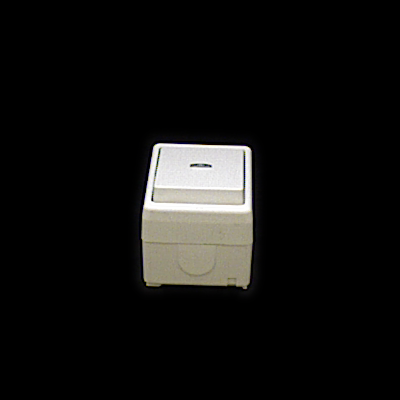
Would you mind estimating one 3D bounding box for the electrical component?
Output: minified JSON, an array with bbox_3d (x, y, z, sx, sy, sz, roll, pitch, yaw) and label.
[{"bbox_3d":[0.000,0.000,0.636,0.062,0.062,0.095,2,31,1],"label":"electrical component"}]
